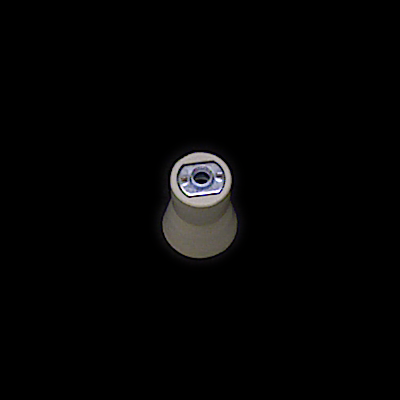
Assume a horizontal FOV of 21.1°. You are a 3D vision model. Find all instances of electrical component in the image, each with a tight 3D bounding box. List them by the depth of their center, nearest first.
[{"bbox_3d":[0.000,0.000,0.624,0.044,0.044,0.065,0,-26,0],"label":"electrical component"}]
